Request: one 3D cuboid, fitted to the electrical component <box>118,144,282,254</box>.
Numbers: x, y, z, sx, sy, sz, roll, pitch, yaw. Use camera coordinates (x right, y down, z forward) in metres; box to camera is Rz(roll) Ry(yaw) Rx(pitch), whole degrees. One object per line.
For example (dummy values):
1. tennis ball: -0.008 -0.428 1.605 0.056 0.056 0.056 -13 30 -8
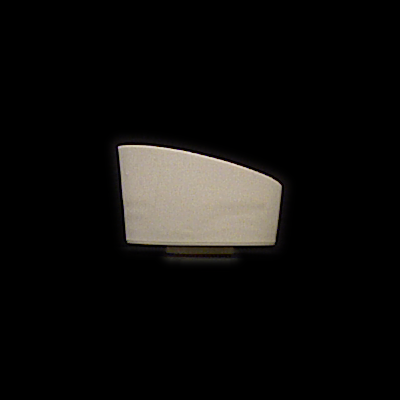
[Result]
1. electrical component: 0.000 0.000 0.648 0.099 0.064 0.099 1 1 0
